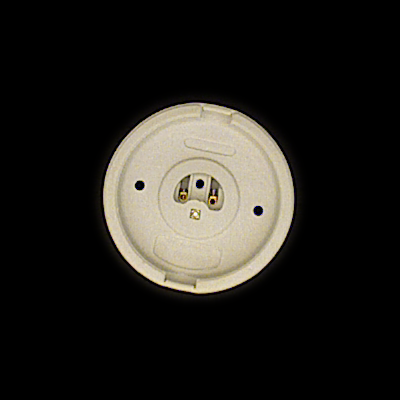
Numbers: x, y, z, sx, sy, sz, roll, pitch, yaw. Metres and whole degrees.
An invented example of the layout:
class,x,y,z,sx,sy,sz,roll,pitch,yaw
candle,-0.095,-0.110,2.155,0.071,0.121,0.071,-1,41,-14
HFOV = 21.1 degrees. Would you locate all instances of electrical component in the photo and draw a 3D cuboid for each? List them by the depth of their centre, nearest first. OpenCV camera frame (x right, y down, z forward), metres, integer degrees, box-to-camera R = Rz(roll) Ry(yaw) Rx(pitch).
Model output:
class,x,y,z,sx,sy,sz,roll,pitch,yaw
electrical component,0.000,0.000,0.634,0.108,0.108,0.060,0,-6,0
